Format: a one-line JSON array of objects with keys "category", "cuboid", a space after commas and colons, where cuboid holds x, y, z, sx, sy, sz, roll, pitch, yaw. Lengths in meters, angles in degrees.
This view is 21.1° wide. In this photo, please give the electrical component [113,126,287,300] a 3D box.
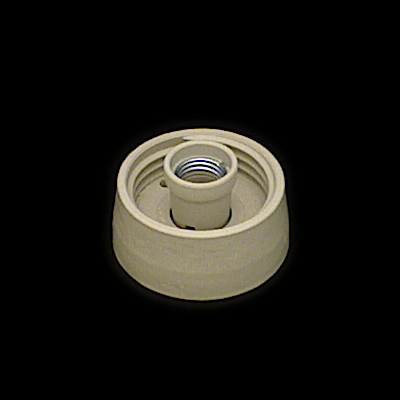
[{"category": "electrical component", "cuboid": [0.000, 0.000, 0.639, 0.108, 0.061, 0.106, 1, 42, 0]}]
